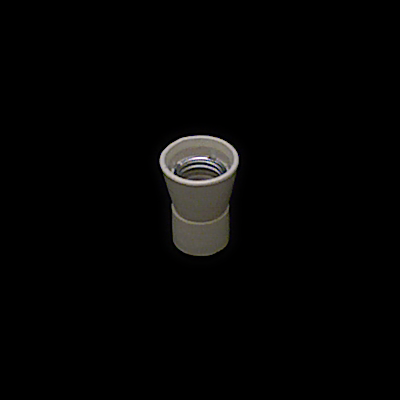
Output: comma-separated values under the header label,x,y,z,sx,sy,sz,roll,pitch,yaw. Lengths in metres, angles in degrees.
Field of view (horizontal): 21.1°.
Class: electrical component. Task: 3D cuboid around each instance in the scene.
label,x,y,z,sx,sy,sz,roll,pitch,yaw
electrical component,0.000,0.000,0.629,0.044,0.066,0.044,0,42,1
